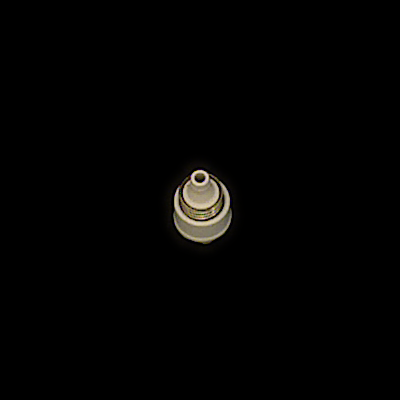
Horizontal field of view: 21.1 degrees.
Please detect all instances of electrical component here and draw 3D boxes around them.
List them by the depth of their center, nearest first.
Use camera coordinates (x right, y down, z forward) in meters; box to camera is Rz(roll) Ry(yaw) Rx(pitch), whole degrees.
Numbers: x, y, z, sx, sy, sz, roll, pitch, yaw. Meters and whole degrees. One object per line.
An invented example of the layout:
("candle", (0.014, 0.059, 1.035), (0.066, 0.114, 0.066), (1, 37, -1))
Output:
("electrical component", (0.000, 0.000, 0.637), (0.035, 0.035, 0.061), (0, -26, 2))
